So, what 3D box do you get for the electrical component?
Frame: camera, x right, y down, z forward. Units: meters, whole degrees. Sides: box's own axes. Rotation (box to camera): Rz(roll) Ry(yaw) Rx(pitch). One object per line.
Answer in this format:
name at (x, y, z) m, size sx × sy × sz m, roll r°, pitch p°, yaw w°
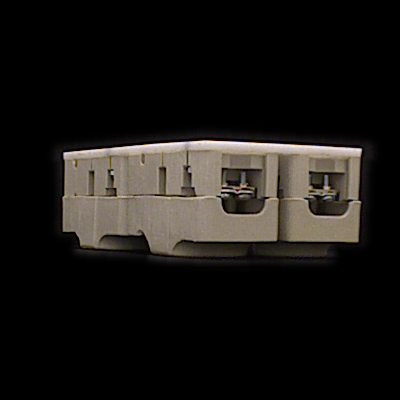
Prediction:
electrical component at (0.000, 0.000, 0.650) m, size 0.106 × 0.060 × 0.186 m, roll 1°, pitch 0°, yaw -30°
